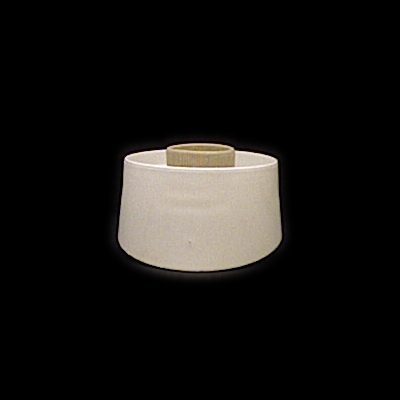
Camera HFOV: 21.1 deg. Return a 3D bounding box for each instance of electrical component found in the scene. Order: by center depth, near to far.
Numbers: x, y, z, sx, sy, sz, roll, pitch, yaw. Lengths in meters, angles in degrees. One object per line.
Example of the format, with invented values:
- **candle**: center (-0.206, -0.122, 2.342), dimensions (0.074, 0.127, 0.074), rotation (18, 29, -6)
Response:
- **electrical component**: center (0.000, 0.000, 0.644), dimensions (0.099, 0.064, 0.098), rotation (1, 11, 0)
